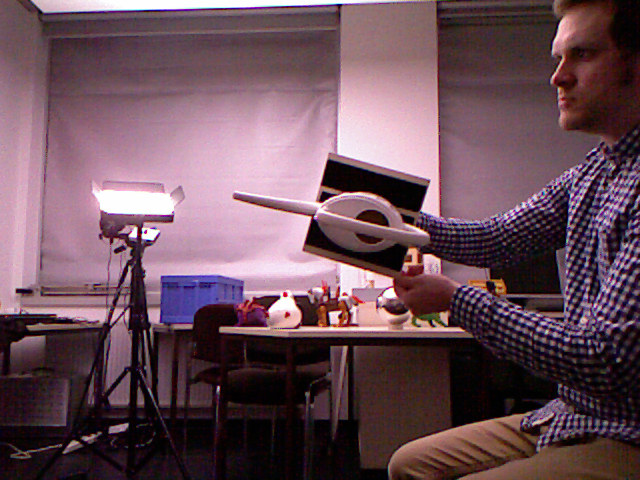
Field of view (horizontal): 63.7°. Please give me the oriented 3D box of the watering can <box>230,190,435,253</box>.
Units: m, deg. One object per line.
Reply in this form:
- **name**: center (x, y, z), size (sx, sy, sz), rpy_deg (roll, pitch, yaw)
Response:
- **watering can**: center (0.030, -0.046, 0.927), size (0.349, 0.104, 0.226), rpy_deg (14, 9, 5)
